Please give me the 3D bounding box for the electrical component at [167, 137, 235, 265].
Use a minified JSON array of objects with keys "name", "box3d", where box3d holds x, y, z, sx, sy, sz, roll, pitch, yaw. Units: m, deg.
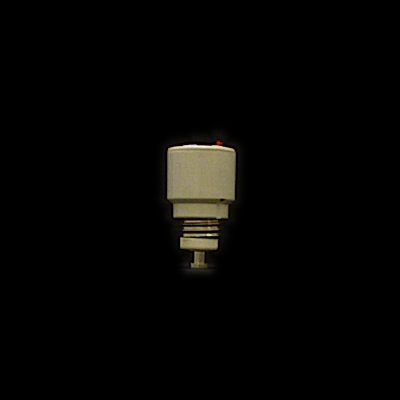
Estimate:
[{"name":"electrical component","box3d":[0.000,0.000,0.651,0.040,0.078,0.040,2,1,0]}]
